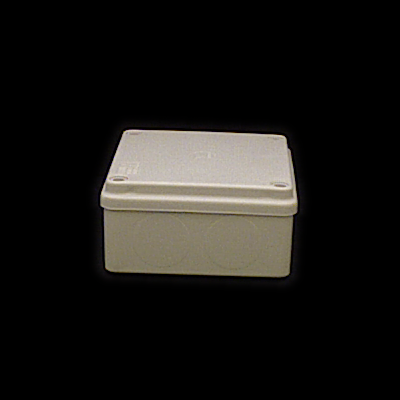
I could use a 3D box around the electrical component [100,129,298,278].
[{"bbox_3d":[0.000,0.000,0.641,0.109,0.057,0.107,2,21,1],"label":"electrical component"}]
